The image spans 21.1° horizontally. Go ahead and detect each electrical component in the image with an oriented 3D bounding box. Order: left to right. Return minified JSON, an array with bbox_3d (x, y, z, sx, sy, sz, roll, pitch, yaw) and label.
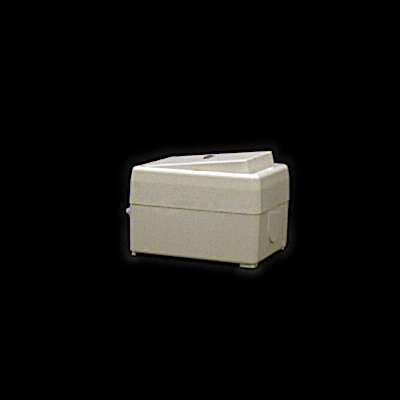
[{"bbox_3d":[0.000,0.000,0.645,0.096,0.061,0.061,5,11,21],"label":"electrical component"}]
